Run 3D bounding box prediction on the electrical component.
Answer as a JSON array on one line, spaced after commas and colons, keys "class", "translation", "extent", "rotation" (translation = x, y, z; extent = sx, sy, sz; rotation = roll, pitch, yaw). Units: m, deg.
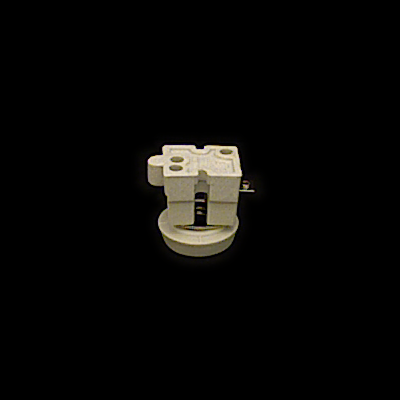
[{"class": "electrical component", "translation": [0.000, 0.000, 0.642], "extent": [0.066, 0.056, 0.048], "rotation": [0, 31, -4]}]
